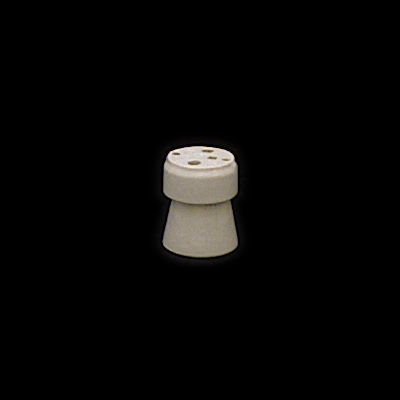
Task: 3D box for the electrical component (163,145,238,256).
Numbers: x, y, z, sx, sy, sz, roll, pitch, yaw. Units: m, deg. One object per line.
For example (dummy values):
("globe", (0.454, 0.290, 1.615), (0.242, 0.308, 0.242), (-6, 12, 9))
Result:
("electrical component", (0.000, 0.000, 0.638), (0.045, 0.056, 0.044), (0, 22, 0))
